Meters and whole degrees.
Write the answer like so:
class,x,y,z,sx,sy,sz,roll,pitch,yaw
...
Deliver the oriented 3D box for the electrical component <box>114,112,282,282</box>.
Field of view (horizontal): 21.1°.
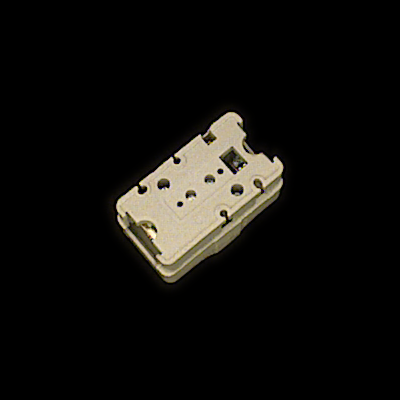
class,x,y,z,sx,sy,sz,roll,pitch,yaw
electrical component,0.000,0.000,0.636,0.090,0.050,0.055,-39,-13,-11
